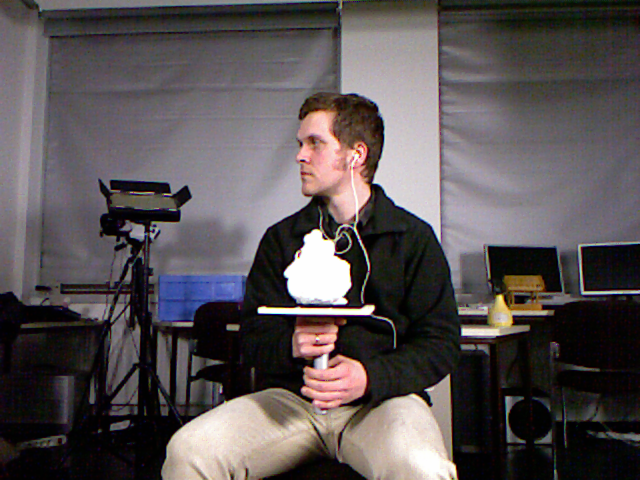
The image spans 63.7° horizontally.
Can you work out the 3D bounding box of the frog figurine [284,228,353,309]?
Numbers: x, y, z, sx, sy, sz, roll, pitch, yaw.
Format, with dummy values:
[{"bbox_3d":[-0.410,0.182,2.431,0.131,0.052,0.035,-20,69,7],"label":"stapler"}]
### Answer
[{"bbox_3d":[-0.003,0.056,1.018,0.137,0.160,0.123,-3,-2,31],"label":"frog figurine"}]
